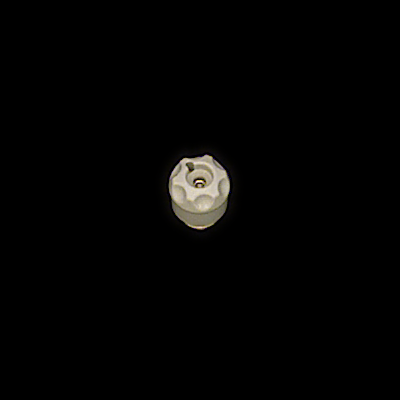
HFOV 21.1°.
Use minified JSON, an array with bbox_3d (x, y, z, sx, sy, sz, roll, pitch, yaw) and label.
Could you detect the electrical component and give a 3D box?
[{"bbox_3d":[0.000,0.000,0.635,0.035,0.035,0.061,0,-27,0],"label":"electrical component"}]
